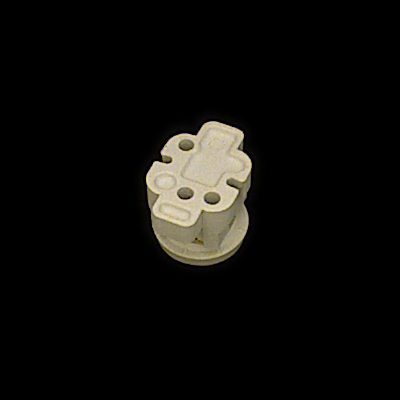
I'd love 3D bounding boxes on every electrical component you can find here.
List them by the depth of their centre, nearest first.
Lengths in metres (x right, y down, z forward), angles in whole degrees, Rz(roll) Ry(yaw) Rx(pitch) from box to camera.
[{"bbox_3d":[0.000,0.000,0.638,0.057,0.078,0.057,19,-36,14],"label":"electrical component"}]
